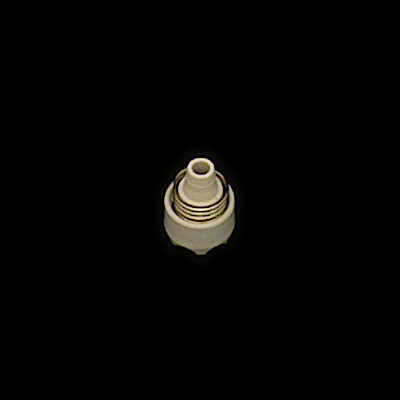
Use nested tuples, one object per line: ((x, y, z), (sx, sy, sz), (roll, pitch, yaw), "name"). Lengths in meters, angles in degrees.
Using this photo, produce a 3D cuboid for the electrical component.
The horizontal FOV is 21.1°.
((0.000, 0.000, 0.636), (0.043, 0.043, 0.062), (0, -38, -2), "electrical component")
